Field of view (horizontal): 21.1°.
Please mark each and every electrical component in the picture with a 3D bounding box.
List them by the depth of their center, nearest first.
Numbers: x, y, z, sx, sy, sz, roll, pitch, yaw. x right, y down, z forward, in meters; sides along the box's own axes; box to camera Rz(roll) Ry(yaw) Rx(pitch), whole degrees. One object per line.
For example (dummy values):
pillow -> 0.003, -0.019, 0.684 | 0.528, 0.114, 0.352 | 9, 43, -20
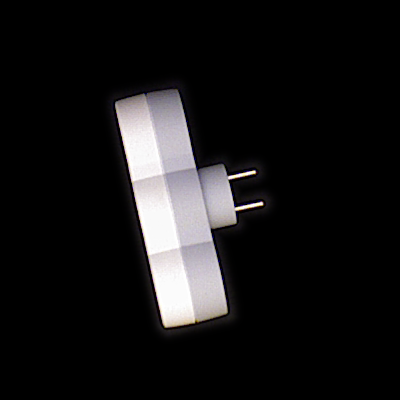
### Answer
electrical component -> 0.000, 0.000, 0.632 | 0.074, 0.138, 0.052 | -13, -7, -3
